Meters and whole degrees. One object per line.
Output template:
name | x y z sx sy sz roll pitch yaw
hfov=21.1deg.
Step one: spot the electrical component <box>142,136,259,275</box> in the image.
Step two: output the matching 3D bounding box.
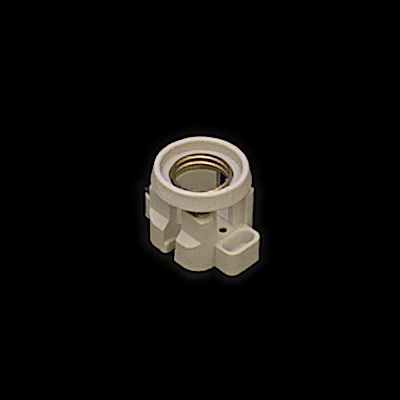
electrical component | 0.000 0.000 0.632 0.058 0.057 0.078 -33 52 -32
